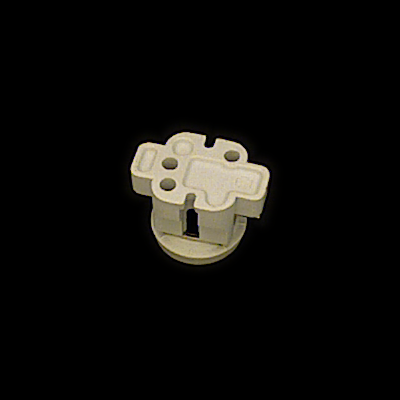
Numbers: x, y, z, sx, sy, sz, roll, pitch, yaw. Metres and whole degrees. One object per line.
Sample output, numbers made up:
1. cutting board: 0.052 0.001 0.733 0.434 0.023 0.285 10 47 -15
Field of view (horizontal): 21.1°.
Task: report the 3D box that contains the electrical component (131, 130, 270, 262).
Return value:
1. electrical component: 0.000 0.000 0.638 0.078 0.057 0.057 12 -37 6
